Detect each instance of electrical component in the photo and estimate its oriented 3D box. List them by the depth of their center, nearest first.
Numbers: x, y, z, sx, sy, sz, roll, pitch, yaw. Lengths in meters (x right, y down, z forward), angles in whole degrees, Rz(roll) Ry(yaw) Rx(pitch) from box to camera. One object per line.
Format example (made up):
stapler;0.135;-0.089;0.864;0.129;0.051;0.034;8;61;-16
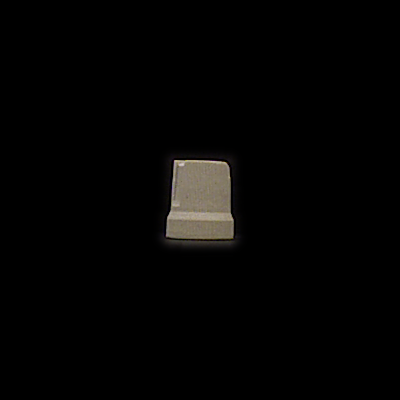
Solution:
electrical component;0.000;0.000;0.650;0.040;0.046;0.040;1;2;0
